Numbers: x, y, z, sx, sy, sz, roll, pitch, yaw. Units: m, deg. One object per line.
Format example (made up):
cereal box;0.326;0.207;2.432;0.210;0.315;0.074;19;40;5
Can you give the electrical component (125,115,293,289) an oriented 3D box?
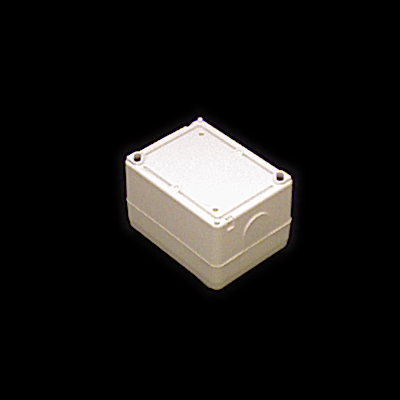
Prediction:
electrical component;0.000;0.000;0.633;0.061;0.061;0.095;-31;50;-31
